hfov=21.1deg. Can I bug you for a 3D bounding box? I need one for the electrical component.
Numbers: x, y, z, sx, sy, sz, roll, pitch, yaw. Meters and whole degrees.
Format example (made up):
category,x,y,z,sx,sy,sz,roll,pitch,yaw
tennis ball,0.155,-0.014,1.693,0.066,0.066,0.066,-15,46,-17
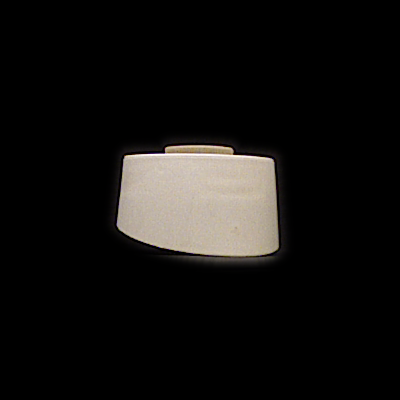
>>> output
category,x,y,z,sx,sy,sz,roll,pitch,yaw
electrical component,0.000,0.000,0.650,0.099,0.064,0.099,1,0,0
